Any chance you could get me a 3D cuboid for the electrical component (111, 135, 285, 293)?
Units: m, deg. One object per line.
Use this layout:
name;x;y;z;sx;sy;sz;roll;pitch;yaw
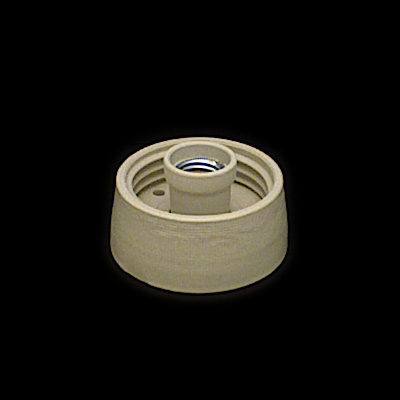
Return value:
electrical component;0.000;0.000;0.640;0.108;0.061;0.106;1;32;0
